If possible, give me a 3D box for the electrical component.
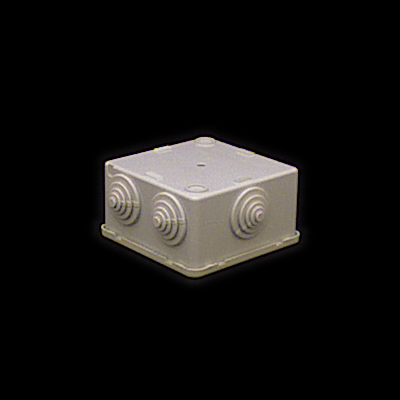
[{"bbox_3d":[0.000,0.000,0.641,0.100,0.049,0.098,-17,27,-39],"label":"electrical component"}]
